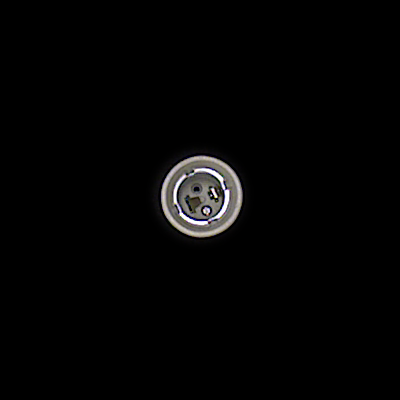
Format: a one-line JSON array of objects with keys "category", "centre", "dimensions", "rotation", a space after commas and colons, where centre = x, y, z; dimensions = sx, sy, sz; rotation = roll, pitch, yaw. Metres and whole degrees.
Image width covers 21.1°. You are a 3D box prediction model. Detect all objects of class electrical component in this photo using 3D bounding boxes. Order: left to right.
[{"category": "electrical component", "centre": [0.000, 0.000, 0.624], "dimensions": [0.044, 0.044, 0.065], "rotation": [0, -5, 0]}]
